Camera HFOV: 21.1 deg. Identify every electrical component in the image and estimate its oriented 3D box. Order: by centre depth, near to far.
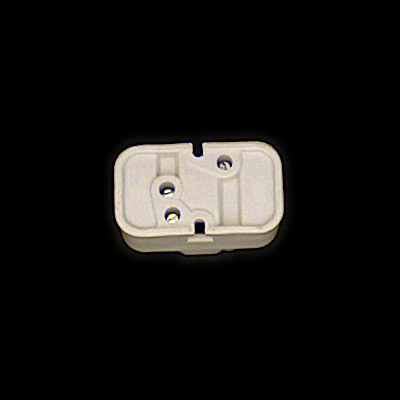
[{"bbox_3d":[0.000,0.000,0.635,0.095,0.054,0.059,-2,-16,-1],"label":"electrical component"}]
